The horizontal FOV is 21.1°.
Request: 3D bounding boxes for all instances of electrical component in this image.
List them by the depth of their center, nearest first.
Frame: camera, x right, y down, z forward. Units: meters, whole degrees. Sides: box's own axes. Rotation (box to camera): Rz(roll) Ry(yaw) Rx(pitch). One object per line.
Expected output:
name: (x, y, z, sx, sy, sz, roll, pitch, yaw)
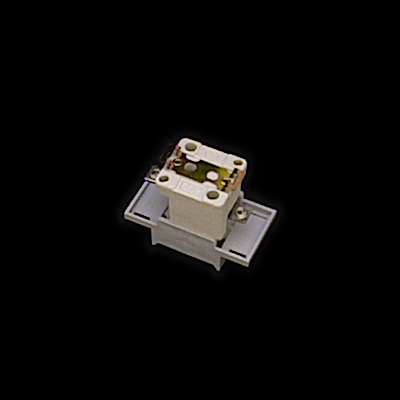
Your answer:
electrical component: (0.000, 0.000, 0.628, 0.080, 0.042, 0.064, 20, -35, 15)
